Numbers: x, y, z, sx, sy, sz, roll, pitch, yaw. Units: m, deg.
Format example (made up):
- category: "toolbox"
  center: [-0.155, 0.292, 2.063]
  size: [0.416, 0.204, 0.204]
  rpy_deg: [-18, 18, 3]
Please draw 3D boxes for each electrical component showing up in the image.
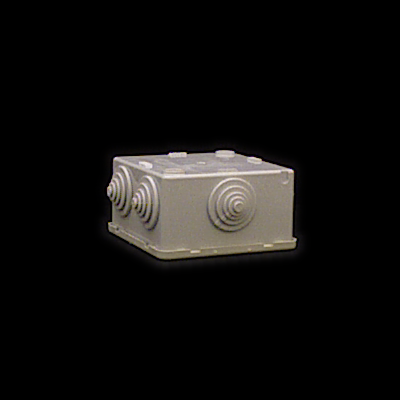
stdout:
- category: "electrical component"
  center: [0.000, 0.000, 0.644]
  size: [0.100, 0.049, 0.099]
  rpy_deg: [-4, 12, -25]
